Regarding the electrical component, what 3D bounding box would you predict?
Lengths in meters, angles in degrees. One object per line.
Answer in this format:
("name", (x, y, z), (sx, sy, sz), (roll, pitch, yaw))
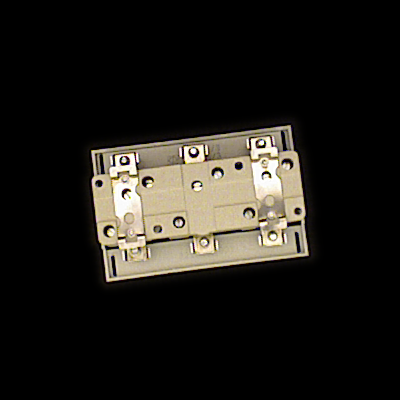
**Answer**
("electrical component", (0.000, 0.000, 0.634), (0.121, 0.079, 0.063), (-8, -5, -1))
